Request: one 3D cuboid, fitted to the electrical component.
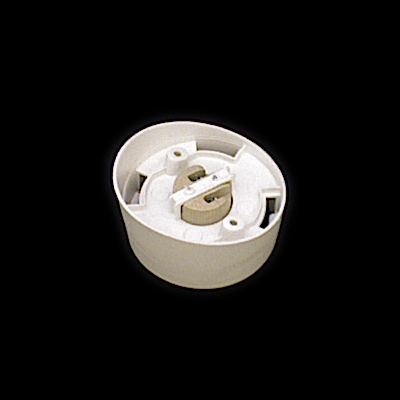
[{"bbox_3d":[0.000,0.000,0.625,0.099,0.098,0.064,0,-37,0],"label":"electrical component"}]
